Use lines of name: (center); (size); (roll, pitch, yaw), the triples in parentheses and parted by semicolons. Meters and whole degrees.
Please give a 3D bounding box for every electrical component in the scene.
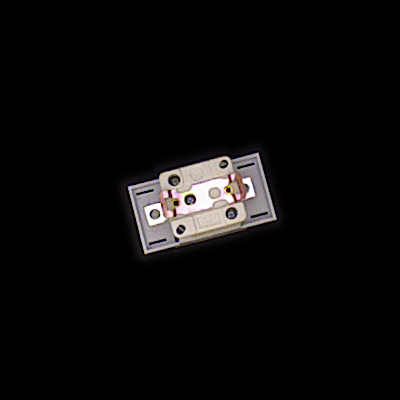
electrical component: (0.000, 0.000, 0.626); (0.081, 0.042, 0.063); (-15, -6, -1)
